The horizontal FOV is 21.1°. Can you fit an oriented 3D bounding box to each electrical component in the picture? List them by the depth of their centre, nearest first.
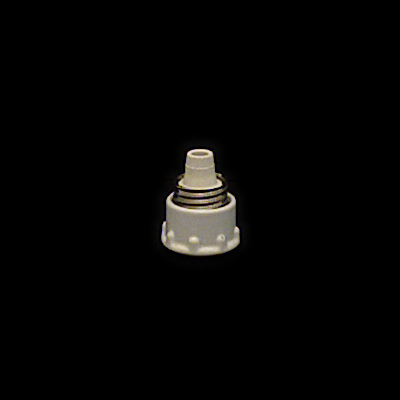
[{"bbox_3d":[0.000,0.000,0.644,0.048,0.063,0.047,0,22,1],"label":"electrical component"}]
